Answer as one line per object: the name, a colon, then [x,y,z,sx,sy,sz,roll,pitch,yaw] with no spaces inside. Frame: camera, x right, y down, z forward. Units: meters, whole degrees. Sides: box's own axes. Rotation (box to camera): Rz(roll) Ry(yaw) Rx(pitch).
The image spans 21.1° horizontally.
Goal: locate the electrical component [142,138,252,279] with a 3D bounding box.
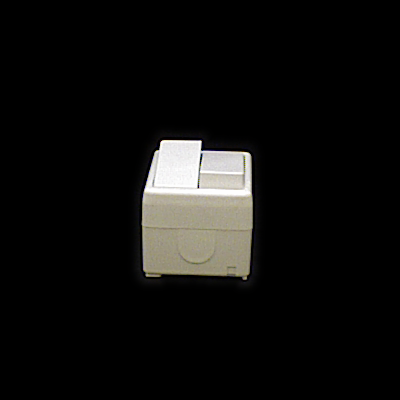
electrical component: [0.000,0.000,0.641,0.062,0.061,0.095,2,21,2]
